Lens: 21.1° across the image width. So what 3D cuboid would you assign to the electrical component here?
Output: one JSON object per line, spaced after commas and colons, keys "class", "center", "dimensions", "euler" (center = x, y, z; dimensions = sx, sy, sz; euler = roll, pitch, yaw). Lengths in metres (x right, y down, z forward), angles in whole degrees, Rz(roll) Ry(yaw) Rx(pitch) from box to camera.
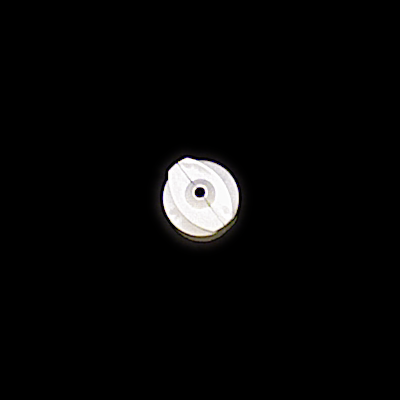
{"class": "electrical component", "center": [0.000, 0.000, 0.616], "dimensions": [0.043, 0.043, 0.080], "euler": [0, -6, 1]}
